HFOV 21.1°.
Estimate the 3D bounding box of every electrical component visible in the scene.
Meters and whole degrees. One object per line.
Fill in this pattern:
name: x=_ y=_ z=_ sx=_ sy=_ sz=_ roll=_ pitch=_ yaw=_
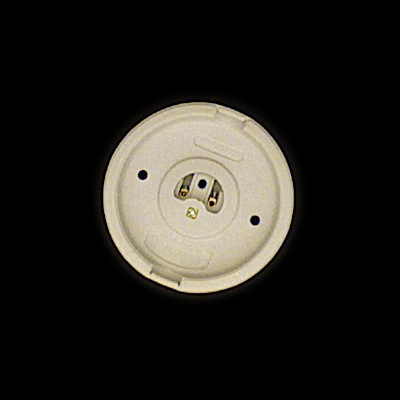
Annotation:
electrical component: x=0.000 y=0.000 z=0.634 sx=0.108 sy=0.108 sz=0.060 roll=0 pitch=-6 yaw=0
